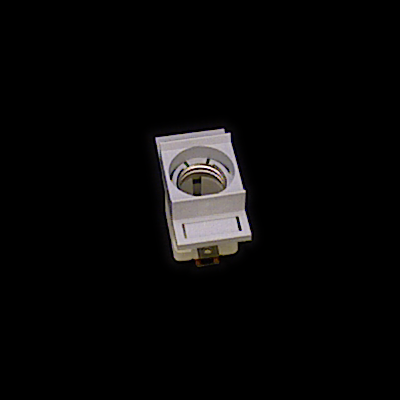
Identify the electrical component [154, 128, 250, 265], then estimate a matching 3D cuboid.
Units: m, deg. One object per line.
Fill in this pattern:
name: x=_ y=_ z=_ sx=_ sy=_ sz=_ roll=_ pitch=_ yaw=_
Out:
electrical component: x=0.000 y=0.000 z=0.624 sx=0.042 sy=0.080 sz=0.064 roll=-7 pitch=-38 yaw=-7
